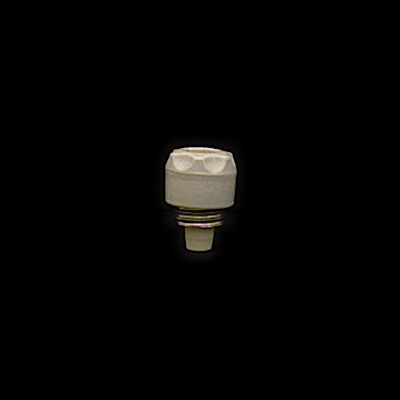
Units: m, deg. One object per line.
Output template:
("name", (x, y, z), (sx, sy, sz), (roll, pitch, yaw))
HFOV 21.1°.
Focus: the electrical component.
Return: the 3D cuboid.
("electrical component", (0.000, 0.000, 0.651), (0.043, 0.062, 0.043), (2, 12, 0))
